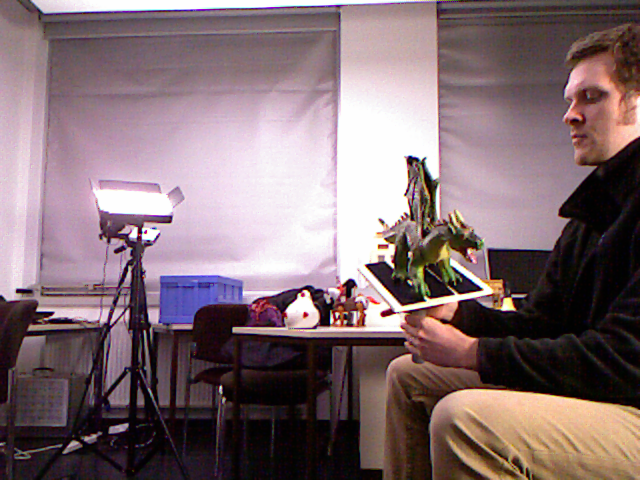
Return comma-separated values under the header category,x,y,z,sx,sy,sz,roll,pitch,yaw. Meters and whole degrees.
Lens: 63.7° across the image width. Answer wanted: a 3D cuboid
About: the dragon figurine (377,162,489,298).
category,x,y,z,sx,sy,sz,roll,pitch,yaw
dragon figurine,0.192,-0.041,1.026,0.123,0.239,0.417,-12,26,-17
